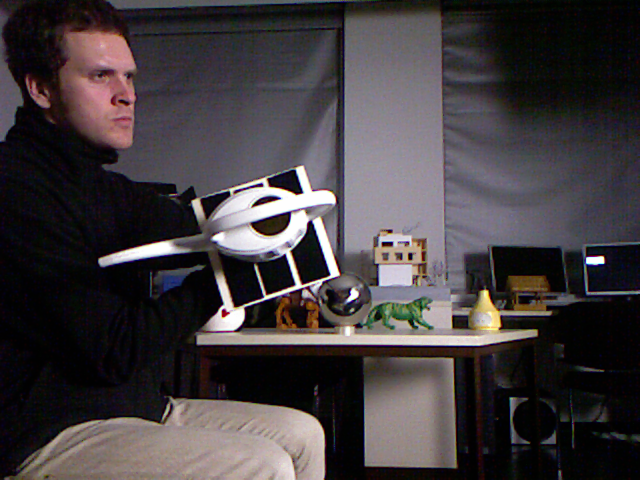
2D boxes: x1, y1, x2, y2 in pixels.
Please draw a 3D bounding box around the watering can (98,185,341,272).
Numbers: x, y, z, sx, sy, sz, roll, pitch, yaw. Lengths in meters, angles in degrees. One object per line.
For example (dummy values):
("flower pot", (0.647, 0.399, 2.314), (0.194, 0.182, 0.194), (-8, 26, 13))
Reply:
("watering can", (-0.137, -0.012, 0.797), (0.349, 0.105, 0.224), (-16, -7, -2))
